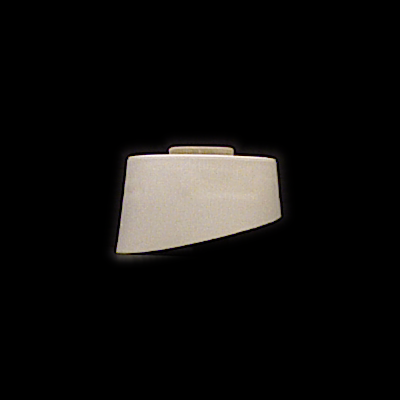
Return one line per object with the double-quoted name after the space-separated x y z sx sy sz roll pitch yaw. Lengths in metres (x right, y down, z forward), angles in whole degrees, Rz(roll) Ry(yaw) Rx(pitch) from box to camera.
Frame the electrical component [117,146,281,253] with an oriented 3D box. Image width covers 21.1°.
0.000 0.000 0.650 0.099 0.064 0.099 1 0 0 "electrical component"
